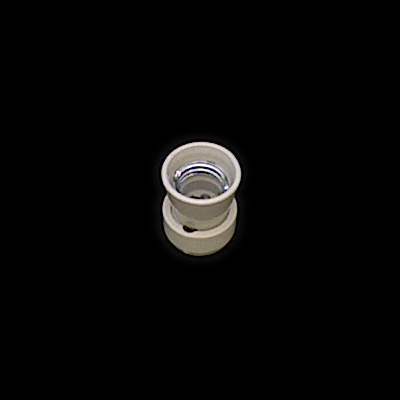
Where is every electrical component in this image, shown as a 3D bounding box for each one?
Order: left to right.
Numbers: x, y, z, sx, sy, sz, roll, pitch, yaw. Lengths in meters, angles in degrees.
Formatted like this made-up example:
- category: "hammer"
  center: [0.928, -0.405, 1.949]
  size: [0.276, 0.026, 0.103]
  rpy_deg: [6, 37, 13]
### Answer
- category: "electrical component"
  center: [0.000, 0.000, 0.630]
  size: [0.045, 0.044, 0.055]
  rpy_deg: [0, -37, -1]
